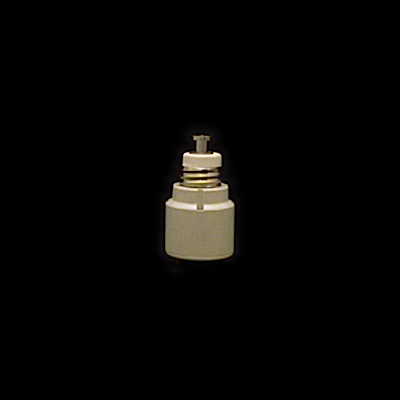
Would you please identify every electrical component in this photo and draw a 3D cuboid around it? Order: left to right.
[{"bbox_3d":[0.000,0.000,0.644,0.040,0.079,0.040,2,12,0],"label":"electrical component"}]
